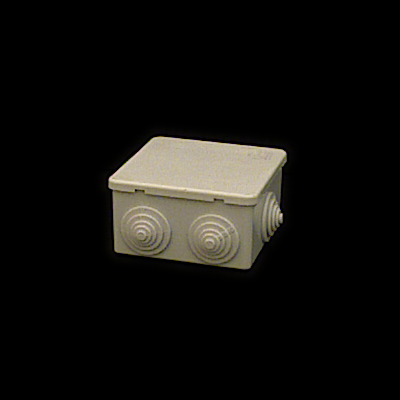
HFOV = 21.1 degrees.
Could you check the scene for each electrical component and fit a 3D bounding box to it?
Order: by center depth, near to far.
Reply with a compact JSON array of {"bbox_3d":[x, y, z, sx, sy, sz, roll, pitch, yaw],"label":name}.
[{"bbox_3d":[0.000,0.000,0.649,0.099,0.049,0.099,7,22,14],"label":"electrical component"}]
